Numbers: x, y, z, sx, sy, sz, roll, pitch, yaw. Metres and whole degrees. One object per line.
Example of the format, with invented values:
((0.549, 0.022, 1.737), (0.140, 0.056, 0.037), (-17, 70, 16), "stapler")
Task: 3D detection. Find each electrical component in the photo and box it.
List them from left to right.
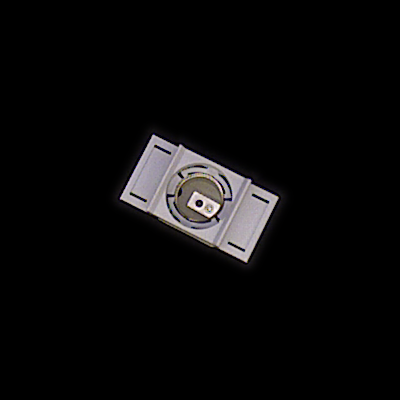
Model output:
((0.000, 0.000, 0.624), (0.081, 0.042, 0.063), (27, -6, 3), "electrical component")
